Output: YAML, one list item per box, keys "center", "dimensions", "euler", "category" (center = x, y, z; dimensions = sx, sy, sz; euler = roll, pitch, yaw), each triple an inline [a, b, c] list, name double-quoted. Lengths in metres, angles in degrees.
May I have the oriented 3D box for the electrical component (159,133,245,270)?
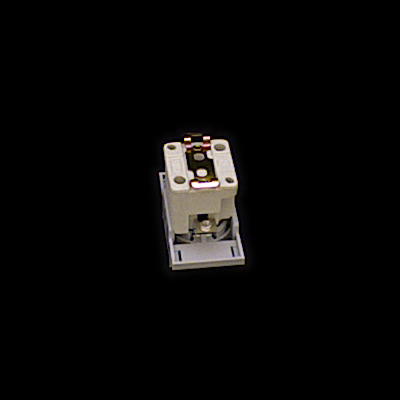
- center: [0.000, 0.000, 0.629]
  dimensions: [0.042, 0.064, 0.080]
  euler: [-5, 42, -6]
  category: "electrical component"
